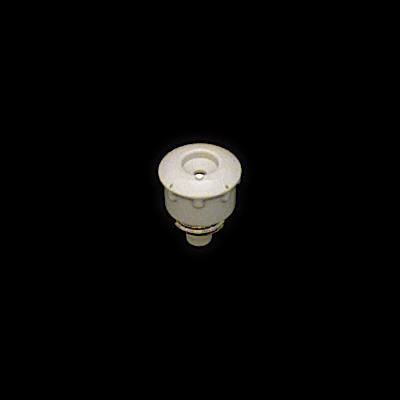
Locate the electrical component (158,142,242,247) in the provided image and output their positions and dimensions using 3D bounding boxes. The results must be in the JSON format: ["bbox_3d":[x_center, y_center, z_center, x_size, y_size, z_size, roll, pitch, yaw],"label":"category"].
[{"bbox_3d":[0.000,0.000,0.637,0.048,0.062,0.047,0,43,0],"label":"electrical component"}]
